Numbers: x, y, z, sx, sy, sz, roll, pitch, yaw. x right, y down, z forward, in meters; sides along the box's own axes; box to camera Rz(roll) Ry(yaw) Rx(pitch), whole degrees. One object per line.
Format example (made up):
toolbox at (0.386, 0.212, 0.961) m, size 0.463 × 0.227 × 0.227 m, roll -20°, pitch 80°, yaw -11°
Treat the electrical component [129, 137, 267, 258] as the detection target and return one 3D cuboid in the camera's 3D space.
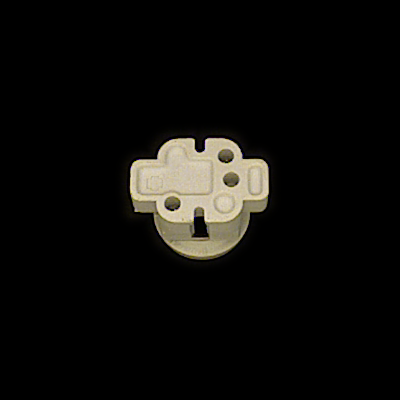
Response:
electrical component at (0.000, 0.000, 0.635) m, size 0.078 × 0.058 × 0.056 m, roll -1°, pitch -26°, yaw 1°
